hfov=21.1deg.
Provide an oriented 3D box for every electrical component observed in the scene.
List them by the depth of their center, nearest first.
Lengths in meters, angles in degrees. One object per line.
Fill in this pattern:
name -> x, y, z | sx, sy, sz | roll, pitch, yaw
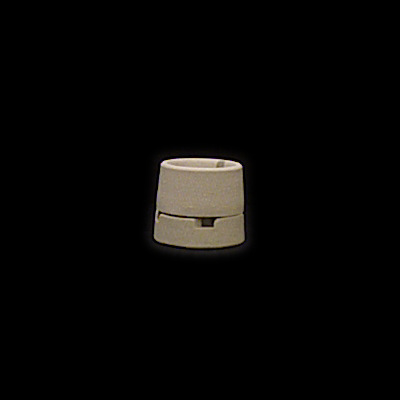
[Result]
electrical component -> 0.000, 0.000, 0.647 | 0.055, 0.047, 0.055 | 2, 10, 0
